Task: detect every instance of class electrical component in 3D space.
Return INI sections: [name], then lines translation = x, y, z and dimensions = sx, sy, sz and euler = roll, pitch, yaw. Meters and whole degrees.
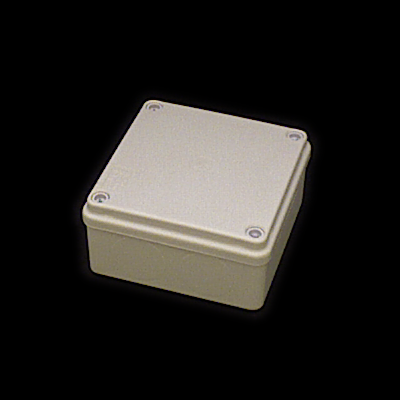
[electrical component]
translation = 0.000, 0.000, 0.633
dimensions = 0.108, 0.057, 0.108
euler = 13, 43, 12
